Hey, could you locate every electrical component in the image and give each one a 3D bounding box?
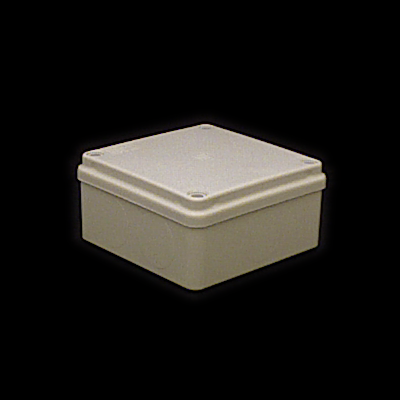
[{"bbox_3d":[0.000,0.000,0.639,0.108,0.057,0.108,-17,28,-40],"label":"electrical component"}]
